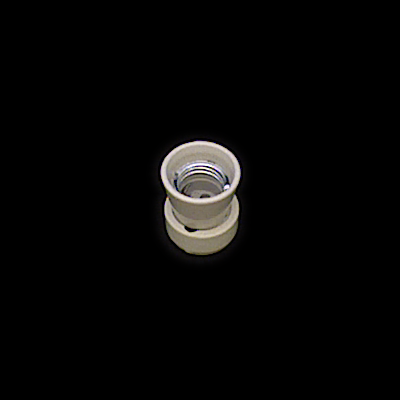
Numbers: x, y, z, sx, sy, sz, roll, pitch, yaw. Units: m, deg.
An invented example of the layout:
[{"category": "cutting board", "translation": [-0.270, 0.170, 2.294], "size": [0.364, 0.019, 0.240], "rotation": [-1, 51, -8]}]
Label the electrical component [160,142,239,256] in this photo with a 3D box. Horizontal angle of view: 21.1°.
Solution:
[{"category": "electrical component", "translation": [0.000, 0.000, 0.629], "size": [0.045, 0.044, 0.055], "rotation": [0, -38, 0]}]
